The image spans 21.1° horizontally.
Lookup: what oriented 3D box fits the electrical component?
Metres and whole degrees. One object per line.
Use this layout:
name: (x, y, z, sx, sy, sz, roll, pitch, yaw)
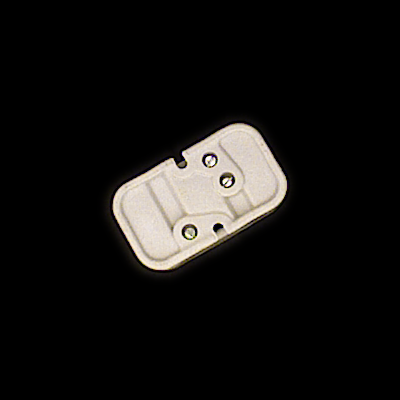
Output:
electrical component: (0.000, 0.000, 0.637, 0.095, 0.054, 0.059, -30, -5, -2)
